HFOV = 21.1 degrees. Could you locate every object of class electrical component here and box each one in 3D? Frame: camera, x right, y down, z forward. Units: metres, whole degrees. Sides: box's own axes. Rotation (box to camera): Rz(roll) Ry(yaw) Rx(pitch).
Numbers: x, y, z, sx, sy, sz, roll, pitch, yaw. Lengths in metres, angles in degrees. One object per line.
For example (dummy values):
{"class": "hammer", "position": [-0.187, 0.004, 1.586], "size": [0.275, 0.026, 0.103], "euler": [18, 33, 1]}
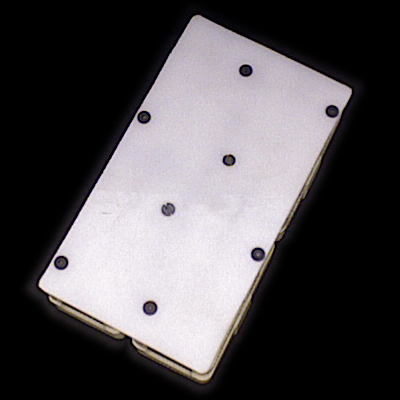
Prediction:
{"class": "electrical component", "position": [0.000, 0.000, 0.625], "size": [0.105, 0.187, 0.060], "euler": [26, -15, 8]}
